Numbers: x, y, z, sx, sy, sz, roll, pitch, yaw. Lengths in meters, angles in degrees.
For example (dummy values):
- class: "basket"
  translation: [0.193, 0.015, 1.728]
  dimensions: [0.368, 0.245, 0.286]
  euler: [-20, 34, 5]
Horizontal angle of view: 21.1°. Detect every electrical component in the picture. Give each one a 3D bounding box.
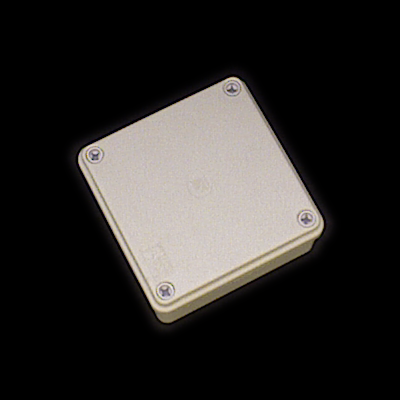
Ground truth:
- class: "electrical component"
  translation: [0.000, 0.000, 0.630]
  dimensions: [0.109, 0.109, 0.056]
  euler: [-27, -15, -9]
